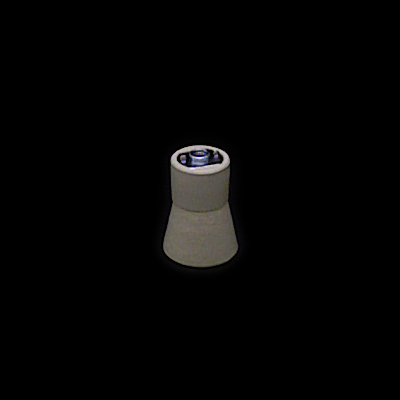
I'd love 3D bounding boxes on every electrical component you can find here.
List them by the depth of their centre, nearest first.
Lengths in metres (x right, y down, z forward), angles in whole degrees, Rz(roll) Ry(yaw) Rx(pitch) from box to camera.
[{"bbox_3d":[0.000,0.000,0.635,0.044,0.066,0.044,0,31,0],"label":"electrical component"}]
